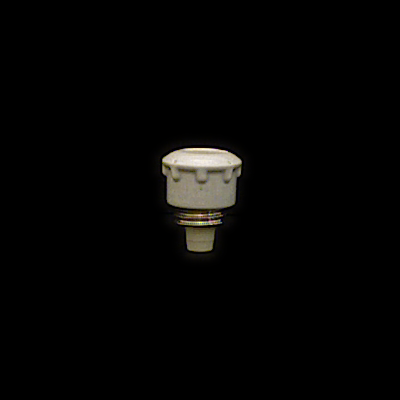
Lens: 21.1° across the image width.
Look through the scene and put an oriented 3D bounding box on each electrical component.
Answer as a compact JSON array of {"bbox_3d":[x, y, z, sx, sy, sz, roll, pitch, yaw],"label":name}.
[{"bbox_3d":[0.000,0.000,0.654,0.048,0.062,0.048,1,11,0],"label":"electrical component"}]
